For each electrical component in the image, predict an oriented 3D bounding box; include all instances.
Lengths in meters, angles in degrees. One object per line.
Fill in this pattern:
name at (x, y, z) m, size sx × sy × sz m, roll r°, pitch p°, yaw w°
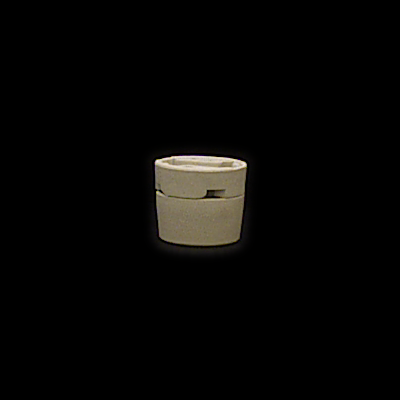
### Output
electrical component at (0.000, 0.000, 0.646) m, size 0.055 × 0.047 × 0.055 m, roll 1°, pitch 11°, yaw 0°
